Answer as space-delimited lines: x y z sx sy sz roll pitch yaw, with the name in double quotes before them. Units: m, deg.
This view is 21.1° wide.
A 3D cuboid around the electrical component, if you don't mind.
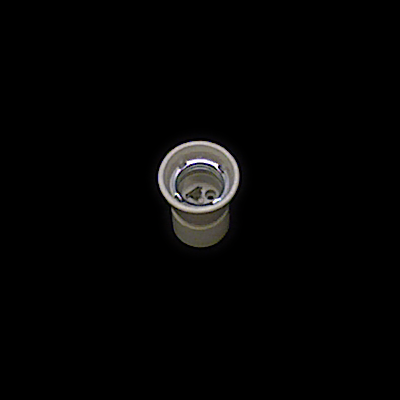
"electrical component" 0.000 0.000 0.624 0.044 0.044 0.065 0 -26 1
